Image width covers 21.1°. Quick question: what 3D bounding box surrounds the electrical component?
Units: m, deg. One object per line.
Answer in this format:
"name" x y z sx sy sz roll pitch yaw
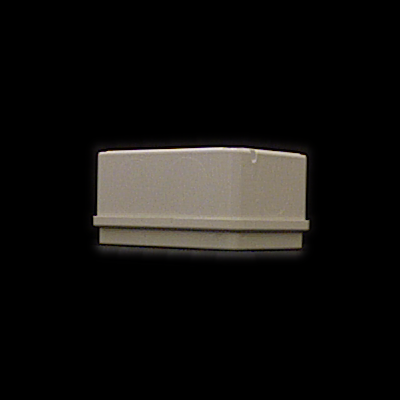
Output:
"electrical component" 0.000 0.000 0.649 0.113 0.057 0.078 1 0 40
